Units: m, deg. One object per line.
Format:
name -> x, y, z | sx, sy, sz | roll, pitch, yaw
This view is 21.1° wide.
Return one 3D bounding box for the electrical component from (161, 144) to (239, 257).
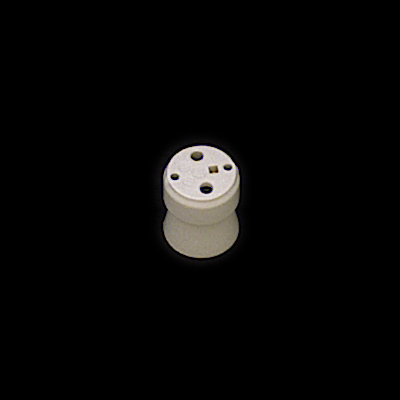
electrical component -> 0.000, 0.000, 0.629 | 0.045, 0.044, 0.055 | 0, -37, 0
